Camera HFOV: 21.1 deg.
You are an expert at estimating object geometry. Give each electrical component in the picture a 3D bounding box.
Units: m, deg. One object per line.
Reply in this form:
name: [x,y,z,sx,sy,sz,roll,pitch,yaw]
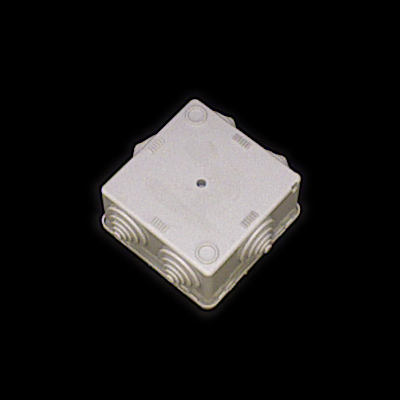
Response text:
electrical component: [0.000,0.000,0.631,0.099,0.100,0.048,38,-21,17]
